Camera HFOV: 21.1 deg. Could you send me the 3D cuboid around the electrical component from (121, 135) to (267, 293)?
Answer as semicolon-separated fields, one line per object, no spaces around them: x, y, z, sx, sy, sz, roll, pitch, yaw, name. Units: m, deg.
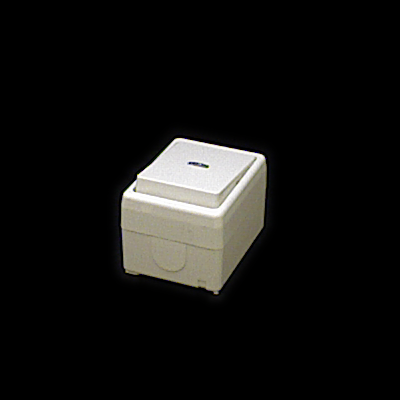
0.000;0.000;0.636;0.061;0.061;0.095;12;33;18;electrical component
